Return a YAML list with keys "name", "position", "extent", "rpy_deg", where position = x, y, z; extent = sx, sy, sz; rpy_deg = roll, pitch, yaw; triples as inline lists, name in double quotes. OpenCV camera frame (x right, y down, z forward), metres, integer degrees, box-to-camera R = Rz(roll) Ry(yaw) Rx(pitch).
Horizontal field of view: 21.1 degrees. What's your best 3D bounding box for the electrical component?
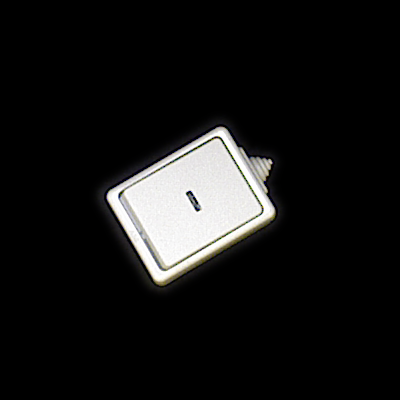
- name: "electrical component"
  position: [0.000, 0.000, 0.626]
  extent: [0.096, 0.062, 0.061]
  rpy_deg: [-31, -6, -3]
